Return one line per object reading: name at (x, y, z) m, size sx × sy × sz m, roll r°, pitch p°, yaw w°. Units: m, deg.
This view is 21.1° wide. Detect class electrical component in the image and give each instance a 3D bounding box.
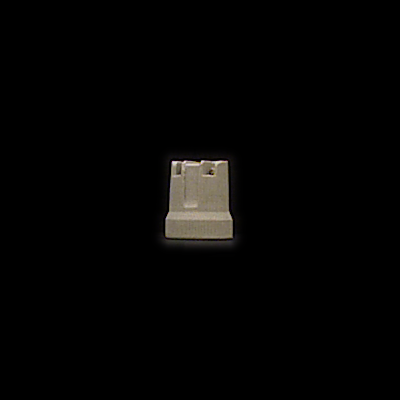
electrical component at (0.000, 0.000, 0.649) m, size 0.040 × 0.046 × 0.040 m, roll 1°, pitch 1°, yaw 0°
